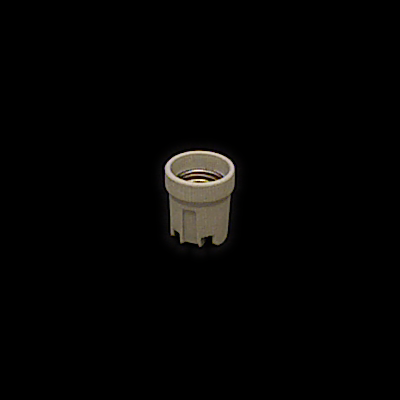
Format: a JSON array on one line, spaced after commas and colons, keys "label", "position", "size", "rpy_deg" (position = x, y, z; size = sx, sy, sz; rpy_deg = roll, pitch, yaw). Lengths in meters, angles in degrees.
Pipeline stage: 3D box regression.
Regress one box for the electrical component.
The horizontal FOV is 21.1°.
[{"label": "electrical component", "position": [0.000, 0.000, 0.634], "size": [0.040, 0.047, 0.039], "rpy_deg": [1, 32, 0]}]
